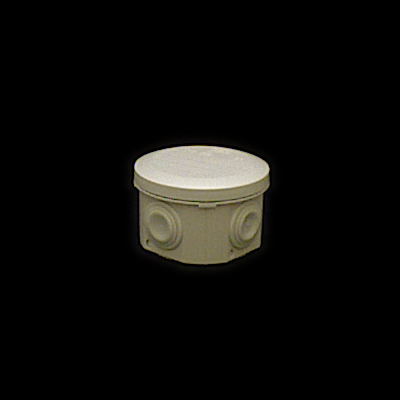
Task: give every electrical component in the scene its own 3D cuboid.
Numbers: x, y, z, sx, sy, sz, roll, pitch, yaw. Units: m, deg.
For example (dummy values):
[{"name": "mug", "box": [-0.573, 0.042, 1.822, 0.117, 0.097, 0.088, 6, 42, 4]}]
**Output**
[{"name": "electrical component", "box": [0.000, 0.000, 0.639, 0.080, 0.051, 0.079, 1, 21, 0]}]
